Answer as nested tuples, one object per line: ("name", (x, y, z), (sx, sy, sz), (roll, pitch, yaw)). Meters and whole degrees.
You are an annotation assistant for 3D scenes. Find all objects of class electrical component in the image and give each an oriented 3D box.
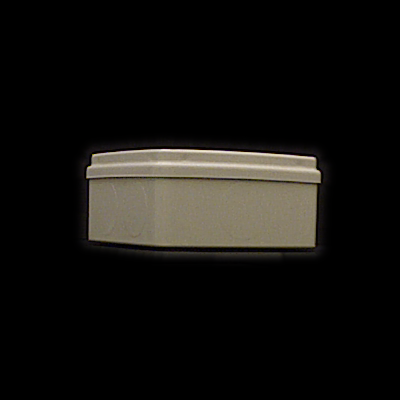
("electrical component", (0.000, 0.000, 0.649), (0.109, 0.056, 0.108), (1, 1, -29))
